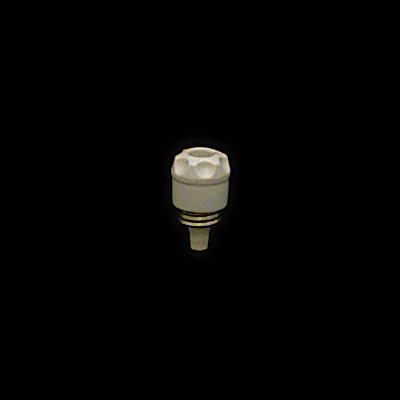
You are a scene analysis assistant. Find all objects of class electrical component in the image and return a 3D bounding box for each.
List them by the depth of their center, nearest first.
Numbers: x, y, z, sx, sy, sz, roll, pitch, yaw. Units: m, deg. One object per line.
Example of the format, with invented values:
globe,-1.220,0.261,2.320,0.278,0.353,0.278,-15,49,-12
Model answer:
electrical component,0.000,0.000,0.645,0.035,0.062,0.034,1,22,0
